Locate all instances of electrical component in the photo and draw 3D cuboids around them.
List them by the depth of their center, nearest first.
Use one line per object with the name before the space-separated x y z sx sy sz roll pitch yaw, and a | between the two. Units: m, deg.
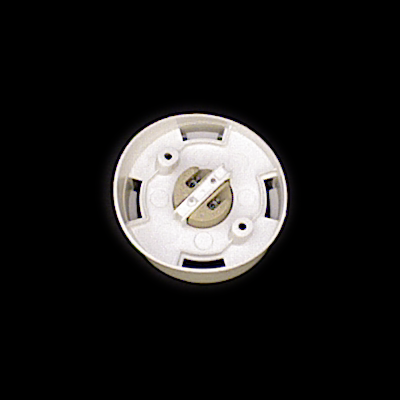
electrical component | 0.000 0.000 0.623 0.099 0.099 0.064 0 -16 0
